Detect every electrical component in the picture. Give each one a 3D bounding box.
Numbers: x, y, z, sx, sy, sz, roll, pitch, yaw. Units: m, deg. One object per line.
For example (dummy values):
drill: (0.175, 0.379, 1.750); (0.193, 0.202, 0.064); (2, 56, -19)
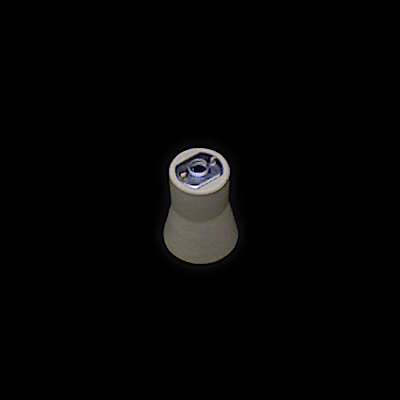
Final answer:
electrical component: (0.000, 0.000, 0.628); (0.044, 0.044, 0.065); (0, -39, 1)
